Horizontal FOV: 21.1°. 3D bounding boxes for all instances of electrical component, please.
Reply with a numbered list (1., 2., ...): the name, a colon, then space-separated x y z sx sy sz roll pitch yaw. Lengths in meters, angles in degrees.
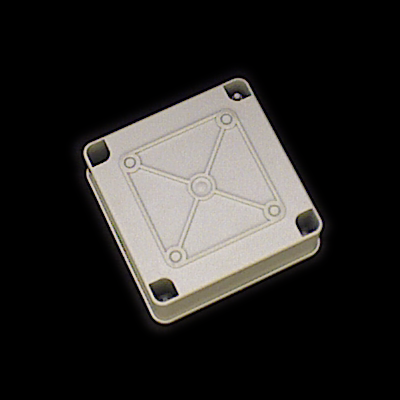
1. electrical component: 0.000 0.000 0.628 0.109 0.109 0.056 -24 -16 -8
